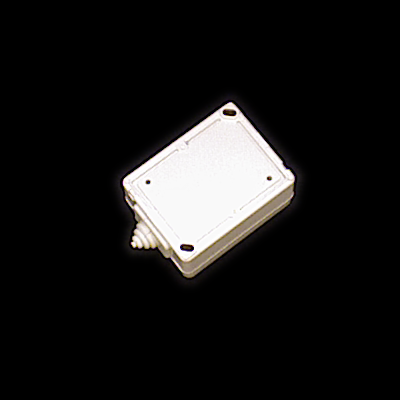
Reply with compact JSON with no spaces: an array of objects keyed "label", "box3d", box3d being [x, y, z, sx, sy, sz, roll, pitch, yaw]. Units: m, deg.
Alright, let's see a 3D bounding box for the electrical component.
[{"label":"electrical component","box3d":[0.000,0.000,0.628,0.096,0.062,0.060,-37,-13,-10]}]
